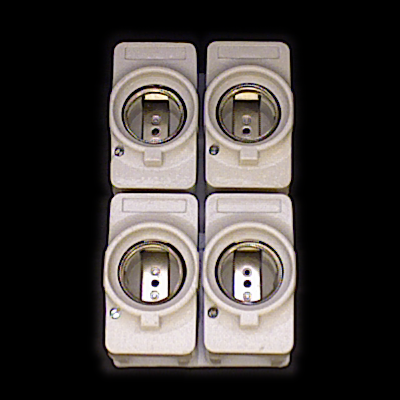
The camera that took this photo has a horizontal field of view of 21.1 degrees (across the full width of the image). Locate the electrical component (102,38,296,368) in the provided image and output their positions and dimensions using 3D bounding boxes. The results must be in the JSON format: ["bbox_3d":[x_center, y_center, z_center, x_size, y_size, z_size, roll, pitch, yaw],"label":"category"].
[{"bbox_3d":[0.000,0.000,0.625,0.105,0.187,0.060,0,-17,0],"label":"electrical component"}]
